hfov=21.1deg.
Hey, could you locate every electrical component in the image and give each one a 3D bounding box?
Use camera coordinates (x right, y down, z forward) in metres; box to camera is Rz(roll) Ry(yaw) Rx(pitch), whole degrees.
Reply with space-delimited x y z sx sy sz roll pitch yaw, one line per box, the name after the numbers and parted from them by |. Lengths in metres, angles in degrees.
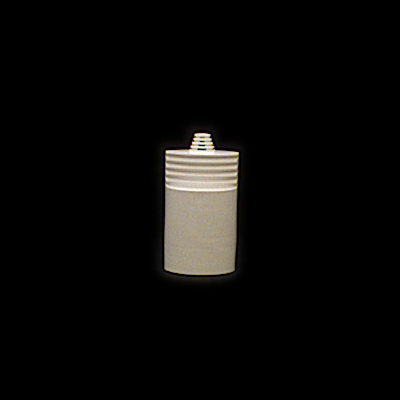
0.000 0.000 0.642 0.043 0.081 0.043 1 11 0 | electrical component
